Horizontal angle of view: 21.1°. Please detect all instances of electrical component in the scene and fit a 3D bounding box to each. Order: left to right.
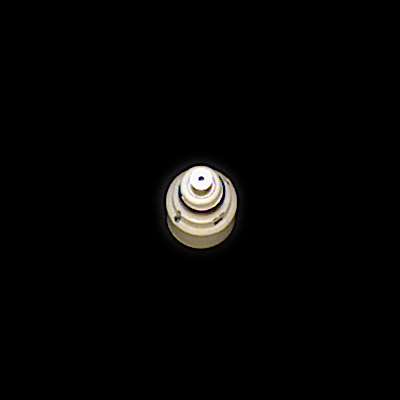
[{"bbox_3d":[0.000,0.000,0.617,0.040,0.040,0.078,0,-18,0],"label":"electrical component"}]
